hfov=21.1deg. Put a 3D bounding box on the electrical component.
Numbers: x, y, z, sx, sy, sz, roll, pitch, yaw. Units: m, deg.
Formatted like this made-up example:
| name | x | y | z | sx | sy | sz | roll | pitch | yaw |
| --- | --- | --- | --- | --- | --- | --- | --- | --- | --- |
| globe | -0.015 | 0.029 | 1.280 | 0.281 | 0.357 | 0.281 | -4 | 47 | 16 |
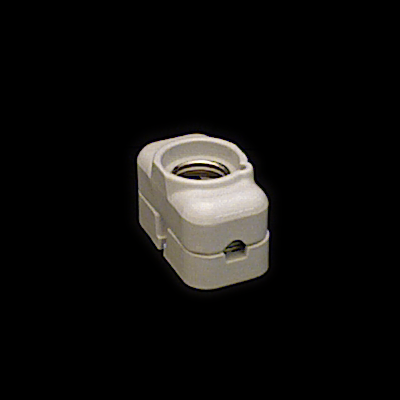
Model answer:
| name | x | y | z | sx | sy | sz | roll | pitch | yaw |
| --- | --- | --- | --- | --- | --- | --- | --- | --- | --- |
| electrical component | 0.000 | 0.000 | 0.642 | 0.054 | 0.060 | 0.093 | -14 | 36 | -21 |
